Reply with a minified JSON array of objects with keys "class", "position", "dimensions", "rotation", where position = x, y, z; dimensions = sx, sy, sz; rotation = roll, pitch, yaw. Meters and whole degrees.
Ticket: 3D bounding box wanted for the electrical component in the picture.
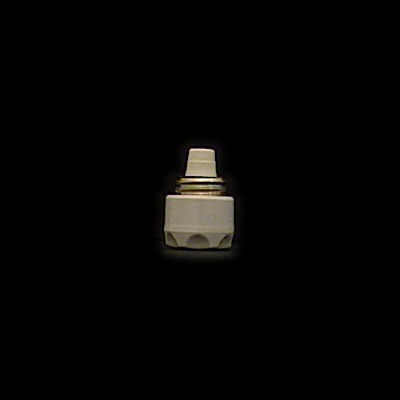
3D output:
[{"class":"electrical component","position":[0.000,0.000,0.657],"dimensions":[0.043,0.062,0.043],"rotation":[2,1,0]}]
